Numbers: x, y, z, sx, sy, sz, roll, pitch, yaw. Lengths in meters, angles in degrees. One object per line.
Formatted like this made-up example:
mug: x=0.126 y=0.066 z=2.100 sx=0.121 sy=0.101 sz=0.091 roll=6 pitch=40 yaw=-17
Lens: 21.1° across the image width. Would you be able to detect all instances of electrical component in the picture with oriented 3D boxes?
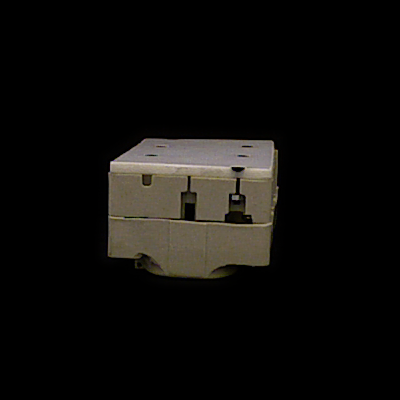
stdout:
electrical component: x=0.000 y=0.000 z=0.653 sx=0.089 sy=0.062 sz=0.148 roll=2 pitch=9 yaw=5
